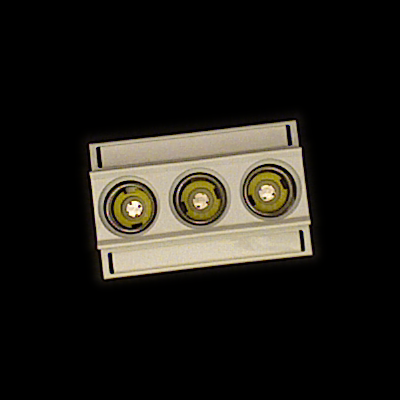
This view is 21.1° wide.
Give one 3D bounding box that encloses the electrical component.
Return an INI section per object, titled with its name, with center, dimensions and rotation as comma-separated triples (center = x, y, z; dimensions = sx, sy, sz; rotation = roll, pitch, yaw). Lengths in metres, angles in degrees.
[electrical component]
center = 0.000, 0.000, 0.637
dimensions = 0.121, 0.079, 0.063
rotation = -6, -4, 0
